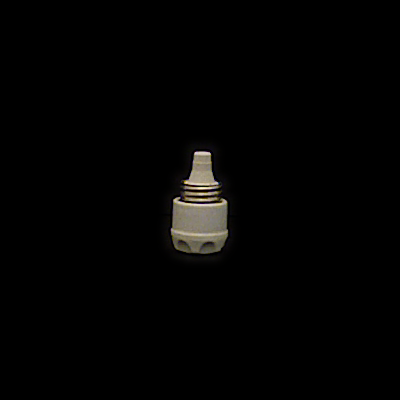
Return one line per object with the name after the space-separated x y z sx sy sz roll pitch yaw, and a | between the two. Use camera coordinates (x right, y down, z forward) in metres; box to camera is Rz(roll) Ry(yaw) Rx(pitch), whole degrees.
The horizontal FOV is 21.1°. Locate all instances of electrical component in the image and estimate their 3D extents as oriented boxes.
0.000 0.000 0.658 0.035 0.062 0.035 3 12 0 | electrical component
